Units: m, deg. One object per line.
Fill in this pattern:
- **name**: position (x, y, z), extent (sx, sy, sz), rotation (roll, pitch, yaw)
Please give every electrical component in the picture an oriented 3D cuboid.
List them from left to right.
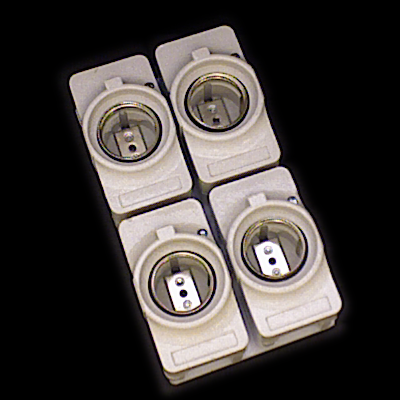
- **electrical component**: position (0.000, 0.000, 0.625), extent (0.106, 0.187, 0.060), rotation (-19, -16, -5)
